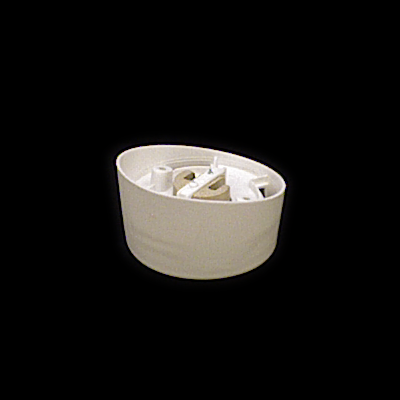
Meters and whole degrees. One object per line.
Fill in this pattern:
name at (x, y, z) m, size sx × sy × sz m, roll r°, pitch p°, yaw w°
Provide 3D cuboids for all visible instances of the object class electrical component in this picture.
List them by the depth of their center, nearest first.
electrical component at (0.000, 0.000, 0.632) m, size 0.099 × 0.065 × 0.097 m, roll 1°, pitch 32°, yaw 0°
